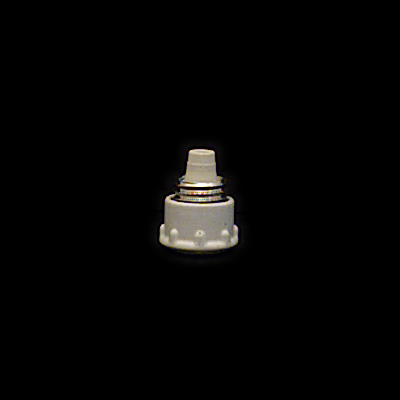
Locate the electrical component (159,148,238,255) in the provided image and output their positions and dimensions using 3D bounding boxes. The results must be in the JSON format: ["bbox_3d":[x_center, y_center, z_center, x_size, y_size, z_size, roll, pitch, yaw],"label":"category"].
[{"bbox_3d":[0.000,0.000,0.651,0.048,0.062,0.048,2,13,0],"label":"electrical component"}]
